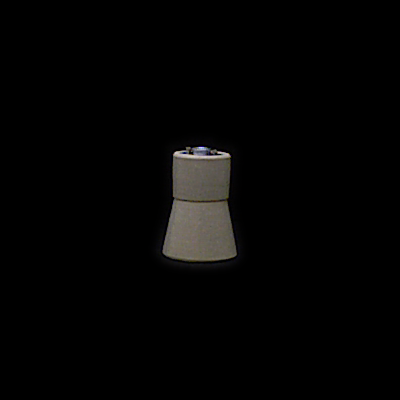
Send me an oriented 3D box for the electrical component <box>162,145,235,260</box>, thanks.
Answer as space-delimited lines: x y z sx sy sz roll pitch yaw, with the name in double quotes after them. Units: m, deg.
0.000 0.000 0.645 0.044 0.066 0.044 2 10 0 "electrical component"
